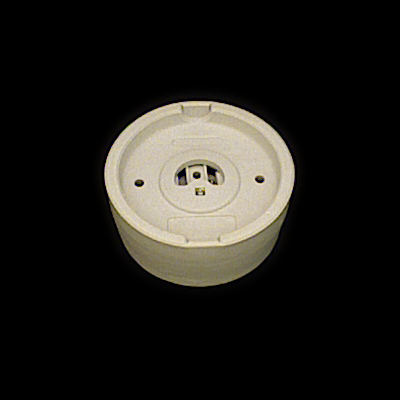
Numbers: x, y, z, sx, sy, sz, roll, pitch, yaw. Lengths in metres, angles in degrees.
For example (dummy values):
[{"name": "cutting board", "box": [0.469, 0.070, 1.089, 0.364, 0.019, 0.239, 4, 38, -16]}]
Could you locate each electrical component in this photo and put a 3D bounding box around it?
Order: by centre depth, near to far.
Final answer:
[{"name": "electrical component", "box": [0.000, 0.000, 0.633, 0.108, 0.107, 0.060, 0, -37, -1]}]
